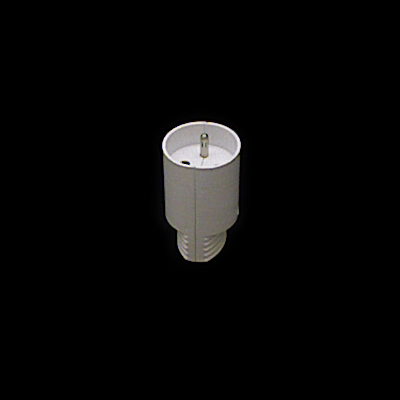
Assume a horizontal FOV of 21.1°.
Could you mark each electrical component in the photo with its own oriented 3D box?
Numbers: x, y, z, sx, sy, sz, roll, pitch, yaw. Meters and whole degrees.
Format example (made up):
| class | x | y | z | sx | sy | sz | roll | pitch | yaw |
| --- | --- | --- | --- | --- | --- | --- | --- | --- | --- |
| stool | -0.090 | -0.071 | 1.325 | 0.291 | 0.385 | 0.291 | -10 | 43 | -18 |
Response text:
| class | x | y | z | sx | sy | sz | roll | pitch | yaw |
| --- | --- | --- | --- | --- | --- | --- | --- | --- | --- |
| electrical component | 0.000 | 0.000 | 0.624 | 0.043 | 0.082 | 0.042 | 1 | 41 | -1 |
